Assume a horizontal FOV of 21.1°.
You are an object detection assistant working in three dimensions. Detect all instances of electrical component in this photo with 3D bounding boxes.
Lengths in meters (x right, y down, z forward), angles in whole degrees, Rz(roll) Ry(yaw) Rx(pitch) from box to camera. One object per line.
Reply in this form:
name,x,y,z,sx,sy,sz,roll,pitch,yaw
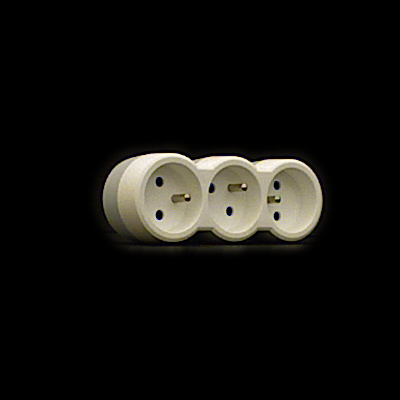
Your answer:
electrical component,0.000,0.000,0.660,0.139,0.052,0.073,1,0,-35
